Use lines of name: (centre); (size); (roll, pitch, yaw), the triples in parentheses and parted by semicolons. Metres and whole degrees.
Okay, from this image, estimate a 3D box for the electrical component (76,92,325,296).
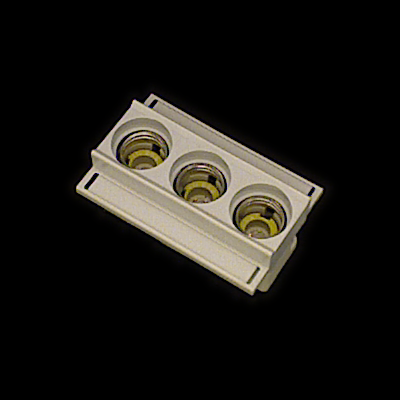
electrical component: (0.000, 0.000, 0.638); (0.121, 0.079, 0.063); (30, -24, 14)
